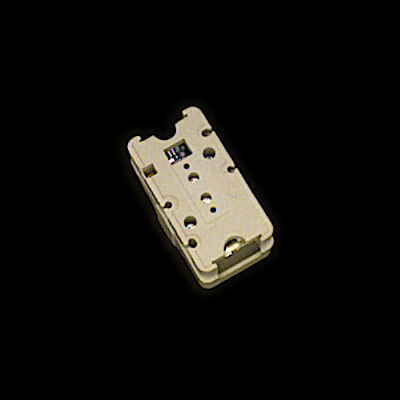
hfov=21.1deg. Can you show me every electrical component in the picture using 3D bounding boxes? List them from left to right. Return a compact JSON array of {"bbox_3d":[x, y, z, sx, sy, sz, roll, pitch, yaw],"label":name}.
[{"bbox_3d":[0.000,0.000,0.636,0.050,0.089,0.055,-29,-15,-7],"label":"electrical component"}]
